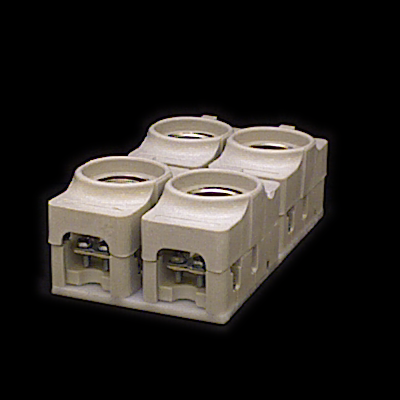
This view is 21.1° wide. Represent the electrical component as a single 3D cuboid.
[{"bbox_3d":[0.000,0.000,0.639,0.105,0.061,0.185,9,22,21],"label":"electrical component"}]
